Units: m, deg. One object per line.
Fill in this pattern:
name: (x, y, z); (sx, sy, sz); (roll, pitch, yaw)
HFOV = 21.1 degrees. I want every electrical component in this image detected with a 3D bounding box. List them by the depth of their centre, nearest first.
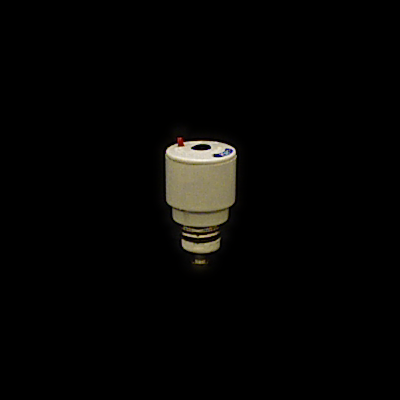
electrical component: (0.000, 0.000, 0.637); (0.040, 0.079, 0.039); (0, 21, 0)
